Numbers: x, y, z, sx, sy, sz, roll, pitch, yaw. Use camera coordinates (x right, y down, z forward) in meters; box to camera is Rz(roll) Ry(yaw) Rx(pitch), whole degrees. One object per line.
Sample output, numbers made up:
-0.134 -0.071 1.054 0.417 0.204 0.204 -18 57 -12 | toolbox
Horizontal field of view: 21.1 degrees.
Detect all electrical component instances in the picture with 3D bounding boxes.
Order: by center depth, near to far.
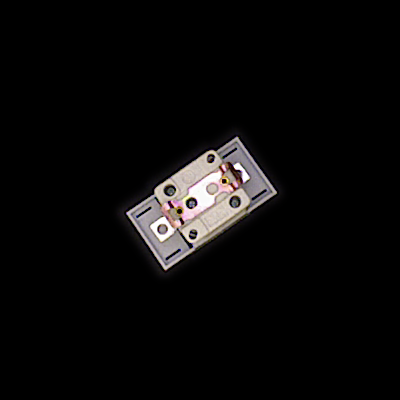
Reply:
0.000 0.000 0.626 0.081 0.042 0.063 -35 -6 -3 | electrical component
